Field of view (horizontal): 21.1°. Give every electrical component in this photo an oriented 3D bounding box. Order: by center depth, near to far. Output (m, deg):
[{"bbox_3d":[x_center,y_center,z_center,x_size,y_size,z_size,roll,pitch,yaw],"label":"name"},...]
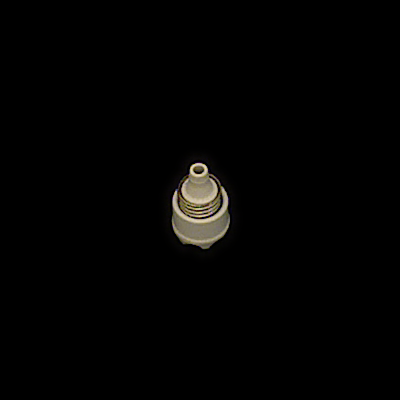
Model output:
[{"bbox_3d":[0.000,0.000,0.639,0.035,0.035,0.062,0,-37,2],"label":"electrical component"}]
